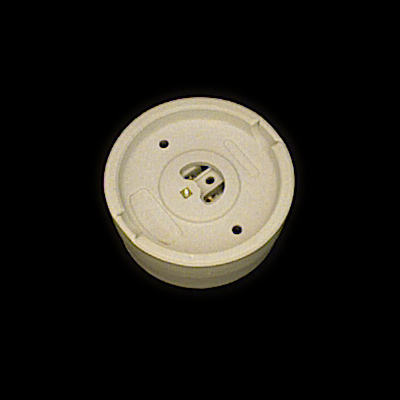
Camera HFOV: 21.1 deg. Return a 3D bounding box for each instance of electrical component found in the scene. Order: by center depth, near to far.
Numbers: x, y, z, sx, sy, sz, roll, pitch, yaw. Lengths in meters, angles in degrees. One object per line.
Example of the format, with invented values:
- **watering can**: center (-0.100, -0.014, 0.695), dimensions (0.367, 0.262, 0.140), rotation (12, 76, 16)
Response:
- **electrical component**: center (0.000, 0.000, 0.632), dimensions (0.108, 0.108, 0.060), rotation (0, -27, -1)
